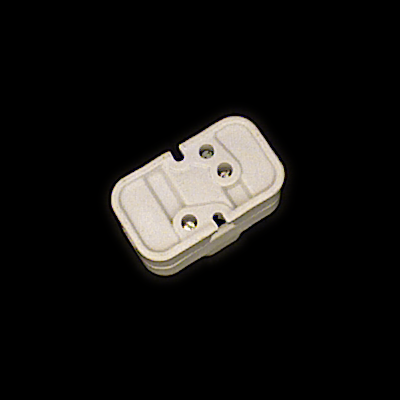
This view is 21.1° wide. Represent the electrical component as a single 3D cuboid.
[{"bbox_3d":[0.000,0.000,0.636,0.095,0.053,0.059,-32,-14,-8],"label":"electrical component"}]
